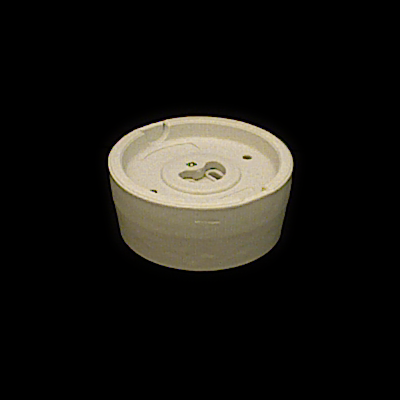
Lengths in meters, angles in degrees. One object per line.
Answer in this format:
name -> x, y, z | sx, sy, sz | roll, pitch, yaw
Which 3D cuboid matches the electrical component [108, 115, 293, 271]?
electrical component -> 0.000, 0.000, 0.642 | 0.108, 0.061, 0.106 | 1, 32, 0
